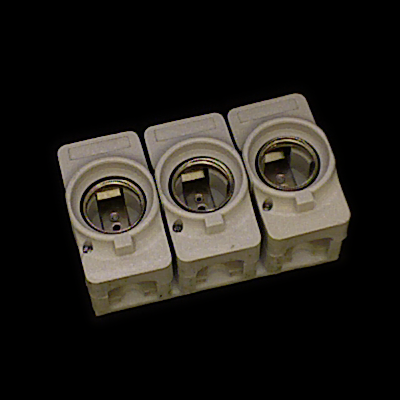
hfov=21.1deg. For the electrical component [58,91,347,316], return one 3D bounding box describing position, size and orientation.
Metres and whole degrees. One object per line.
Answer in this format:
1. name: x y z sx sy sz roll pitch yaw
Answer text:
1. electrical component: 0.000 0.000 0.631 0.150 0.089 0.062 -14 -26 -6
